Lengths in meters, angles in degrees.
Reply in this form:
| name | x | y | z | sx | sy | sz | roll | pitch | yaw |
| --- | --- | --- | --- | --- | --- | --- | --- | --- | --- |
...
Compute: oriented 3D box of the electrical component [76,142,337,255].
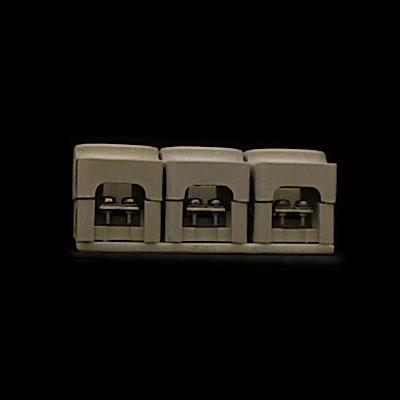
| name | x | y | z | sx | sy | sz | roll | pitch | yaw |
| --- | --- | --- | --- | --- | --- | --- | --- | --- | --- |
| electrical component | 0.000 | 0.000 | 0.658 | 0.150 | 0.062 | 0.089 | 2 | -1 | -8 |
